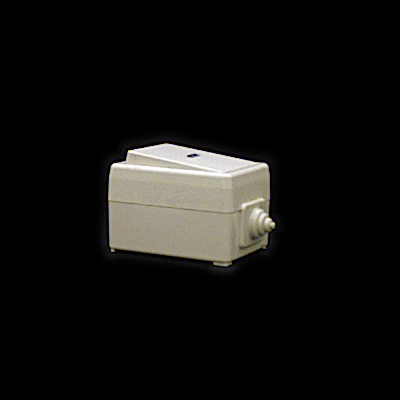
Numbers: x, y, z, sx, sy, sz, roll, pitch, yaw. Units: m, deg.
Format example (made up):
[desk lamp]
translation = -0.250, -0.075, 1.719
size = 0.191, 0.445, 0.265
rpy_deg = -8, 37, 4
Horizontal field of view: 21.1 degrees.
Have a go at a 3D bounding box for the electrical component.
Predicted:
[electrical component]
translation = 0.000, 0.000, 0.643
size = 0.096, 0.061, 0.061
rpy_deg = 6, 12, 25
